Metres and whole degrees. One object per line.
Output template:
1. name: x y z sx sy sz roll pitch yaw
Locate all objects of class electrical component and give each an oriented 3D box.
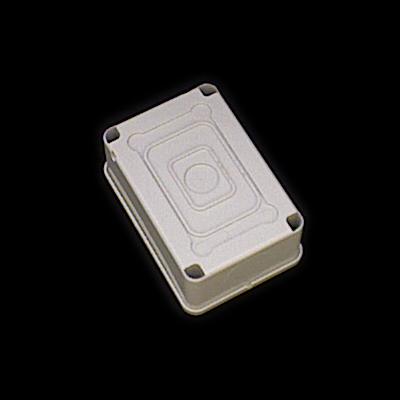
1. electrical component: 0.000 0.000 0.628 0.078 0.113 0.057 -26 -23 -13
